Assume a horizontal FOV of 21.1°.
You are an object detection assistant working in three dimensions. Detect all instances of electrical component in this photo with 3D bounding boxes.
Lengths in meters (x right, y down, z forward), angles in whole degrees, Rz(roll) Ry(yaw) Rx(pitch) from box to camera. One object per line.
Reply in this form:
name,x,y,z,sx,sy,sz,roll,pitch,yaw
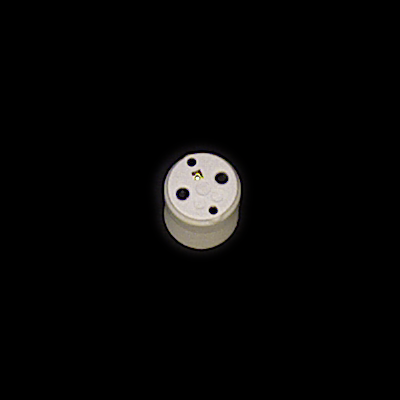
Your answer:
electrical component,0.000,0.000,0.629,0.045,0.045,0.055,0,-16,0
